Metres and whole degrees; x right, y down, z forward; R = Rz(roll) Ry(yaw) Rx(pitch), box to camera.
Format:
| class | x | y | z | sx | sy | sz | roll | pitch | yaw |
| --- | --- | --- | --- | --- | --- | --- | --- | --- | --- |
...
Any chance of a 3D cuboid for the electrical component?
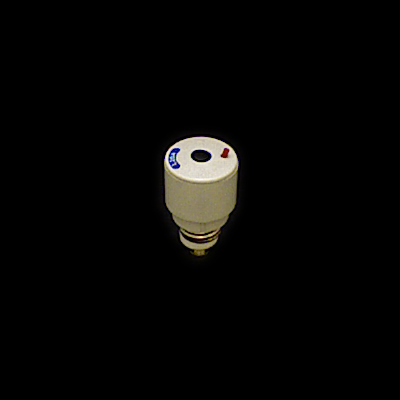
| class | x | y | z | sx | sy | sz | roll | pitch | yaw |
| --- | --- | --- | --- | --- | --- | --- | --- | --- | --- |
| electrical component | 0.000 | 0.000 | 0.624 | 0.040 | 0.079 | 0.039 | 1 | 41 | -1 |
